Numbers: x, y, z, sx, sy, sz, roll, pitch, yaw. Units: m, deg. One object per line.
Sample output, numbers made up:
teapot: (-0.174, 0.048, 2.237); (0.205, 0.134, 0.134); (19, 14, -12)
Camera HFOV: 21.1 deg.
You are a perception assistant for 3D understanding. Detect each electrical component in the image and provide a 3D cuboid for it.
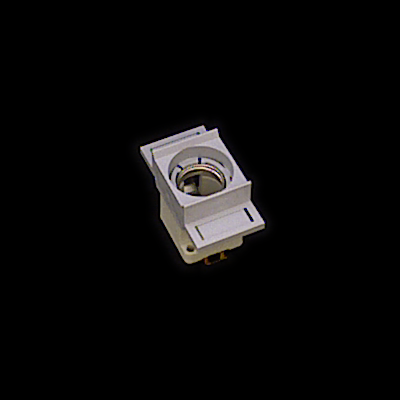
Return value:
electrical component: (0.000, 0.000, 0.627); (0.042, 0.080, 0.064); (-21, -34, -14)
